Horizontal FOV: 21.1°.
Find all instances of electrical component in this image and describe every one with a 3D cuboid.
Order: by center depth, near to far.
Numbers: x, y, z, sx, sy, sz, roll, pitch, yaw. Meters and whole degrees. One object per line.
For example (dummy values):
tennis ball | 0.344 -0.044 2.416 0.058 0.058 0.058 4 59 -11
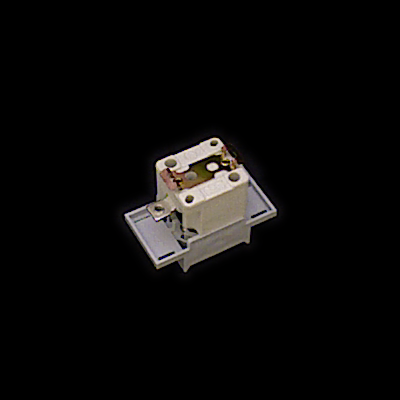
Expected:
electrical component | 0.000 0.000 0.628 0.081 0.042 0.064 -24 -34 -18
